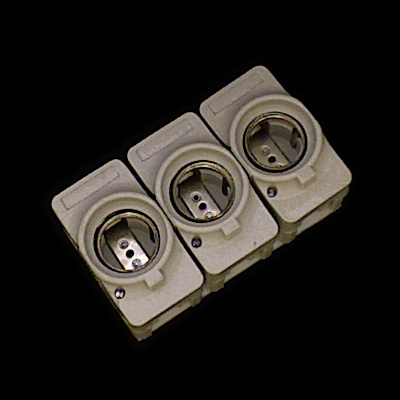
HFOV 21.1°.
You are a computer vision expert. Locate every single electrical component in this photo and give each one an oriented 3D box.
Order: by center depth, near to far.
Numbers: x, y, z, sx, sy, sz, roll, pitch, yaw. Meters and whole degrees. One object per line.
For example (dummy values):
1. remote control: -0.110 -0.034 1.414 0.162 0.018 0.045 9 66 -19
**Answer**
1. electrical component: 0.000 0.000 0.631 0.150 0.089 0.062 -34 -14 -9
